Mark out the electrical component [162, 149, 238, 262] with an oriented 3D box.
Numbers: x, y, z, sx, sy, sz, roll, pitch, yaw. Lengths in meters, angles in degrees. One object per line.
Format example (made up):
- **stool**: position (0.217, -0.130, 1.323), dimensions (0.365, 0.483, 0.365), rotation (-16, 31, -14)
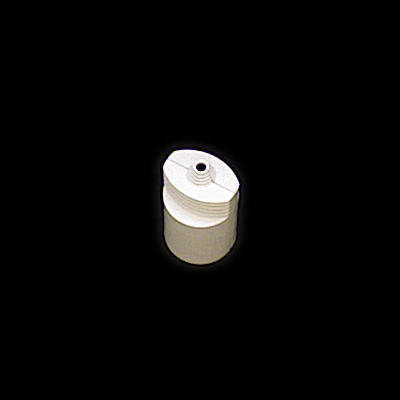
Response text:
- **electrical component**: position (0.000, 0.000, 0.617), dimensions (0.043, 0.043, 0.081), rotation (0, -27, 0)
